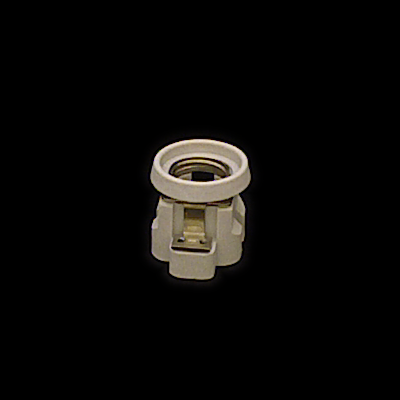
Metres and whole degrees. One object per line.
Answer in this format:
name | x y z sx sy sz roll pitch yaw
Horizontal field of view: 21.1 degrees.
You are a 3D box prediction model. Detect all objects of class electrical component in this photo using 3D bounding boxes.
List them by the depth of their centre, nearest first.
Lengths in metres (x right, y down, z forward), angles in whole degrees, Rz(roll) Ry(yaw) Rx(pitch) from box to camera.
electrical component | 0.000 0.000 0.633 0.058 0.057 0.077 4 32 5
